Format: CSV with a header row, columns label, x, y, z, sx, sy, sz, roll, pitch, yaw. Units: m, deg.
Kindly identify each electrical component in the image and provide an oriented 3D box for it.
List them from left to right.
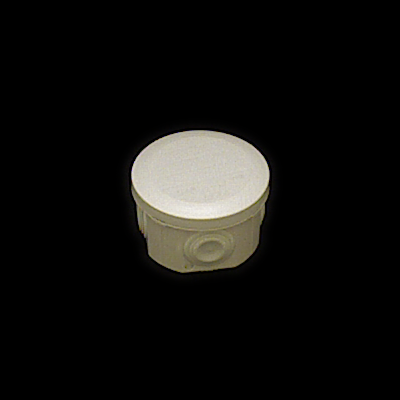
label,x,y,z,sx,sy,sz,roll,pitch,yaw
electrical component,0.000,0.000,0.632,0.080,0.051,0.080,0,42,0
